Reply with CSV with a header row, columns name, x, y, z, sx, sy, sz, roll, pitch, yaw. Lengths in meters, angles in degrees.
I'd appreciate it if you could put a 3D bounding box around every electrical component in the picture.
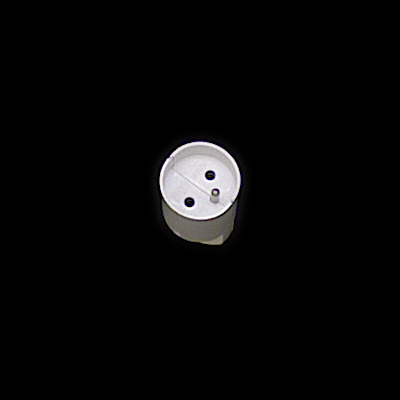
name,x,y,z,sx,sy,sz,roll,pitch,yaw
electrical component,0.000,0.000,0.616,0.043,0.043,0.080,0,-16,0
